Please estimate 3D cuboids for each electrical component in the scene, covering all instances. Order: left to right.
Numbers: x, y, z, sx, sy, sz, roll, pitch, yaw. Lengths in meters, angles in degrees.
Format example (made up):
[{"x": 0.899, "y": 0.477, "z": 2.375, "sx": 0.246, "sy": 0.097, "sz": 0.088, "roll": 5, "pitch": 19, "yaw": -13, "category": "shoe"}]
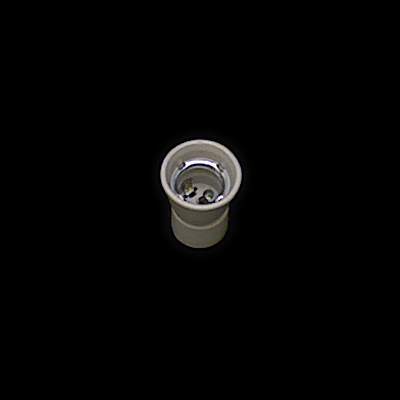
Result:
[{"x": 0.000, "y": 0.000, "z": 0.626, "sx": 0.044, "sy": 0.044, "sz": 0.065, "roll": 0, "pitch": -28, "yaw": -1, "category": "electrical component"}]
